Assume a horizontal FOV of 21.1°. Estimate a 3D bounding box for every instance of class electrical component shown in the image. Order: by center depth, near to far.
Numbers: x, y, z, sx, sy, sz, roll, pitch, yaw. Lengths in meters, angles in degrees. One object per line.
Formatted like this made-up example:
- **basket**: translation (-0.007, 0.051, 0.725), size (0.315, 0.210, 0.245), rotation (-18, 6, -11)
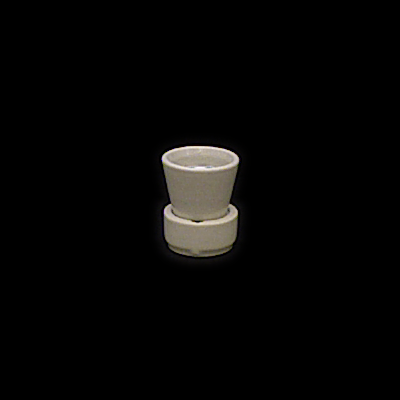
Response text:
- **electrical component**: translation (0.000, 0.000, 0.638), size (0.045, 0.056, 0.044), rotation (1, 21, 0)
